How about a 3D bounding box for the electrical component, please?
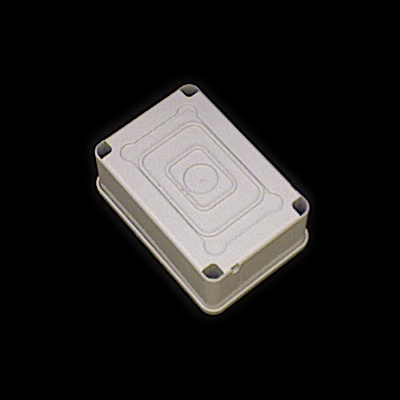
[{"bbox_3d":[0.000,0.000,0.628,0.078,0.113,0.057,-36,-22,-17],"label":"electrical component"}]
